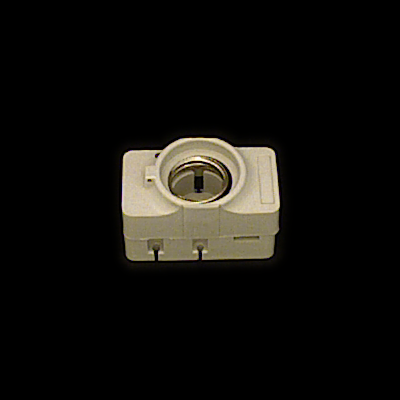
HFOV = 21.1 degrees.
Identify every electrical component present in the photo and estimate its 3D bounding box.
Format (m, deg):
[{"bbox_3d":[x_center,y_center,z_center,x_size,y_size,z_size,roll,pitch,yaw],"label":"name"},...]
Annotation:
[{"bbox_3d":[0.000,0.000,0.638,0.090,0.050,0.056,-2,-37,-2],"label":"electrical component"}]
